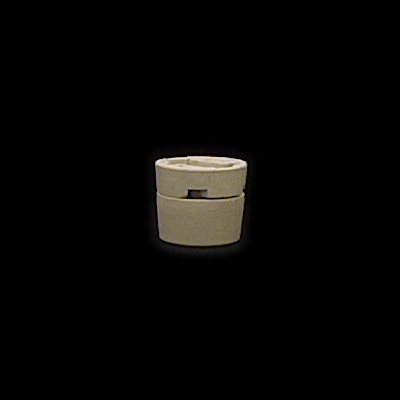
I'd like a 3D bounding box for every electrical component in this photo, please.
[{"bbox_3d":[0.000,0.000,0.646,0.055,0.047,0.055,2,11,0],"label":"electrical component"}]
